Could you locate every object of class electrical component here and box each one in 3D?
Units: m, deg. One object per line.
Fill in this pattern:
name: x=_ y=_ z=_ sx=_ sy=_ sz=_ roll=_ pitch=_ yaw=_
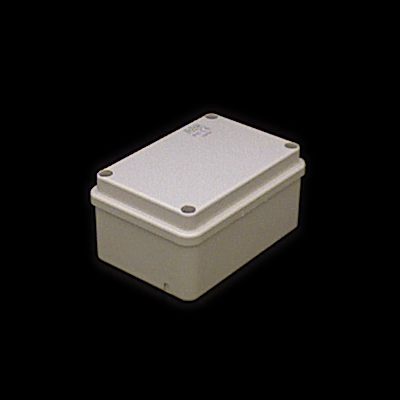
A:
electrical component: x=0.000 y=0.000 z=0.635 sx=0.077 sy=0.058 sz=0.113 roll=23 pitch=38 yaw=32
